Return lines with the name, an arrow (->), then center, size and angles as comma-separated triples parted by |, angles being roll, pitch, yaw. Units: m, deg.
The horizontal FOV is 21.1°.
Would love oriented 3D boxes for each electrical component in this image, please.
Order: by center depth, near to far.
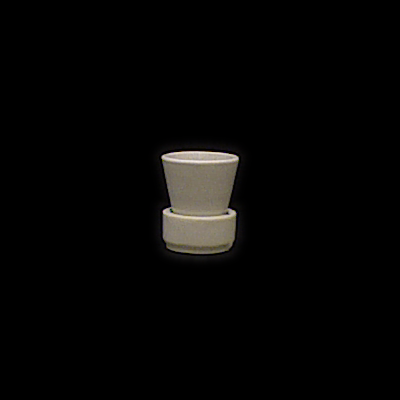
electrical component -> 0.000, 0.000, 0.643 | 0.045, 0.055, 0.044 | 1, 12, 0
